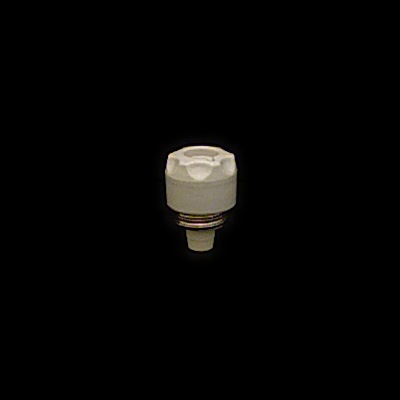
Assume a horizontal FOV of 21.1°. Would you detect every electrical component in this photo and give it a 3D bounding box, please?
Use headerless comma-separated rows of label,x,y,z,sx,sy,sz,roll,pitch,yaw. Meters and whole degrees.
electrical component,0.000,0.000,0.646,0.043,0.063,0.043,0,22,0
